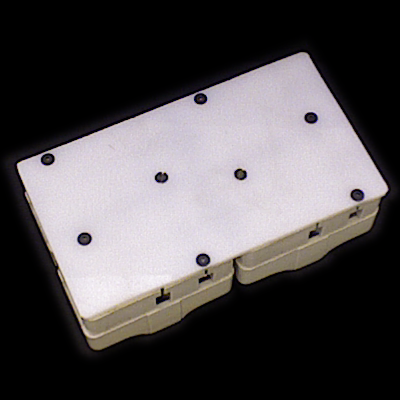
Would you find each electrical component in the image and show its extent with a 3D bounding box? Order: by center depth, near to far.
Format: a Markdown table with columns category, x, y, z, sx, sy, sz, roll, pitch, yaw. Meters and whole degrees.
| category | x | y | z | sx | sy | sz | roll | pitch | yaw |
| --- | --- | --- | --- | --- | --- | --- | --- | --- | --- |
| electrical component | 0.000 | 0.000 | 0.625 | 0.186 | 0.105 | 0.060 | -22 | -25 | -11 |
